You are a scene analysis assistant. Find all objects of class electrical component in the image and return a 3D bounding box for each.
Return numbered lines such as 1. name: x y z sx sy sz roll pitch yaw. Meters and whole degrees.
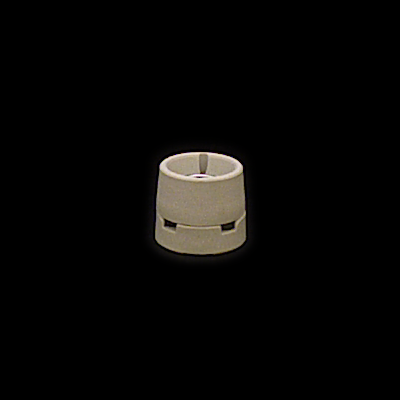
1. electrical component: 0.000 0.000 0.640 0.055 0.047 0.055 1 22 0
